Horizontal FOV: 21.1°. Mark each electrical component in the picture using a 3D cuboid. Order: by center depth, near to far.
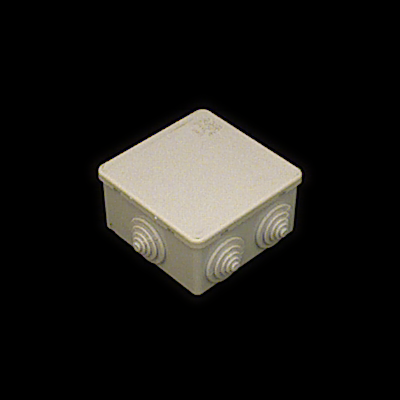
[{"bbox_3d":[0.000,0.000,0.643,0.100,0.049,0.098,-33,52,-31],"label":"electrical component"}]
